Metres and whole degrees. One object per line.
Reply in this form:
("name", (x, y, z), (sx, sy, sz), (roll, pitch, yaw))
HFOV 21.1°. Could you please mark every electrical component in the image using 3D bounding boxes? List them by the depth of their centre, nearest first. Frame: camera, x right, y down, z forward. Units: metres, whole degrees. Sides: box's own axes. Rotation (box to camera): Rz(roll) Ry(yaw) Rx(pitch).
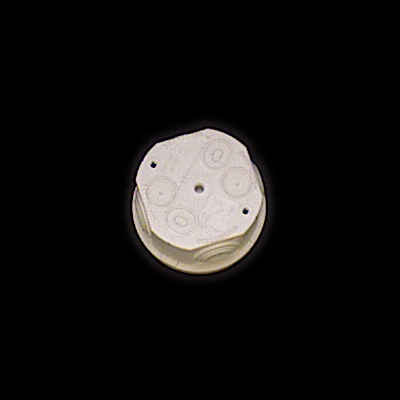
("electrical component", (0.000, 0.000, 0.632), (0.080, 0.080, 0.050), (0, -17, -1))
